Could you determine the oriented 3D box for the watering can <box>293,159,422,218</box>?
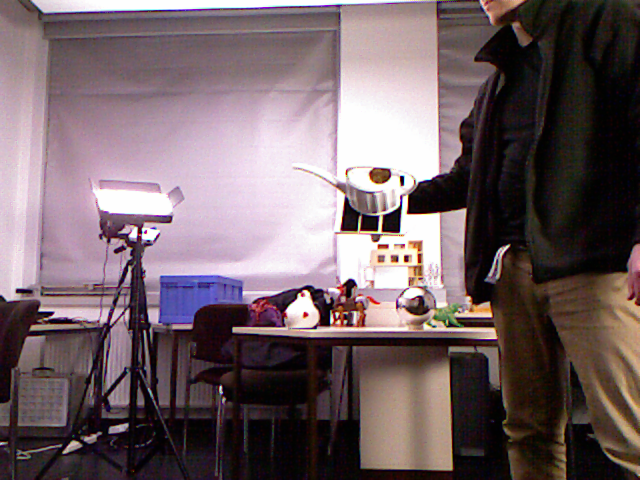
[{"bbox_3d":[0.108,-0.155,1.449,0.348,0.106,0.220,3,-29,9],"label":"watering can"}]
